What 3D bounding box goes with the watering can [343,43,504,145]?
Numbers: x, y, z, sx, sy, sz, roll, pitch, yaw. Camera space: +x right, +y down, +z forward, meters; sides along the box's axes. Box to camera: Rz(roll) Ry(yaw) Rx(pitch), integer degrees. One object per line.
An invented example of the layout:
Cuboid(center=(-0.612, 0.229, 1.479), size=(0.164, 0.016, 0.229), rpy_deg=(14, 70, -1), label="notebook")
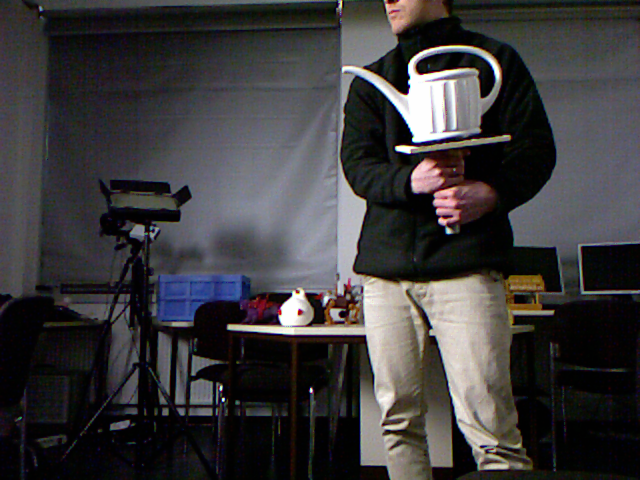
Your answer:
Cuboid(center=(0.232, -0.312, 1.142), size=(0.348, 0.222, 0.105), rpy_deg=(-6, 14, 2), label="watering can")
